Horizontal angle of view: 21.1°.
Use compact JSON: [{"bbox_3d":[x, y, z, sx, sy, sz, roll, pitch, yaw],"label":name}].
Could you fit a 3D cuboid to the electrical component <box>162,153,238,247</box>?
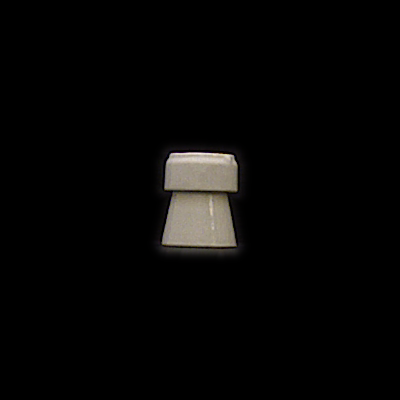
[{"bbox_3d":[0.000,0.000,0.651,0.045,0.055,0.045,2,1,0],"label":"electrical component"}]
